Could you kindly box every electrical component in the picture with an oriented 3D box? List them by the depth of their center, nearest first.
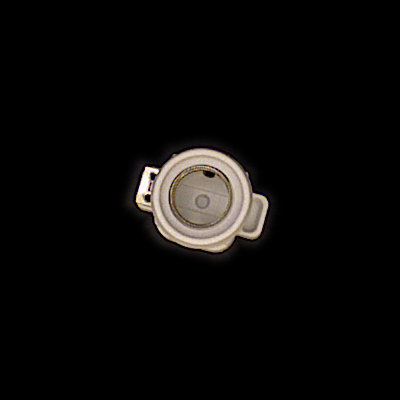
[{"bbox_3d":[0.000,0.000,0.630,0.078,0.058,0.056,15,-6,2],"label":"electrical component"}]
